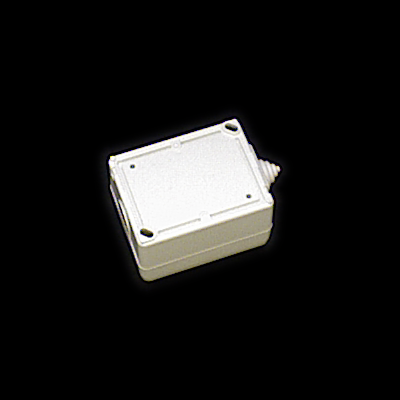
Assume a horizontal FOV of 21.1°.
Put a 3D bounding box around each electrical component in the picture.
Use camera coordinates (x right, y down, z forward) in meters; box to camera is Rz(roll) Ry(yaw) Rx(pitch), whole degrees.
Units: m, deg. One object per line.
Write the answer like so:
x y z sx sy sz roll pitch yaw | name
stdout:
0.000 0.000 0.628 0.096 0.062 0.061 -18 -27 -9 | electrical component
